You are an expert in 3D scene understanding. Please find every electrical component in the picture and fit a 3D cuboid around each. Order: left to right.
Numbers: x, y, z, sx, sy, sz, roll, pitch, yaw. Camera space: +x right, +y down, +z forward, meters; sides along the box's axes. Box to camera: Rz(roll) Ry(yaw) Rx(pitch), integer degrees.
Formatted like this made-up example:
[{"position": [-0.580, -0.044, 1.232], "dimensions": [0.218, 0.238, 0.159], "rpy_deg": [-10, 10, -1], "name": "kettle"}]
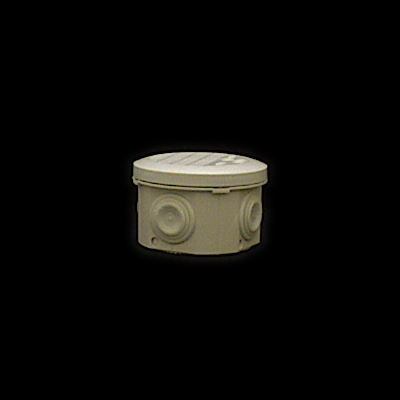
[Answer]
[{"position": [0.000, 0.000, 0.642], "dimensions": [0.080, 0.051, 0.079], "rpy_deg": [1, 10, 0], "name": "electrical component"}]
